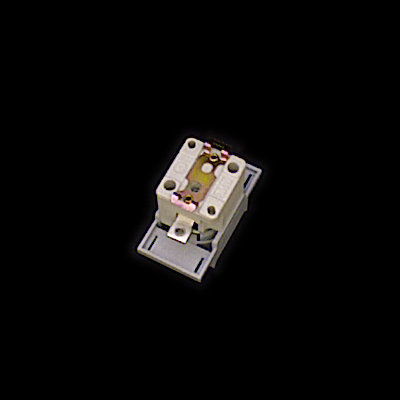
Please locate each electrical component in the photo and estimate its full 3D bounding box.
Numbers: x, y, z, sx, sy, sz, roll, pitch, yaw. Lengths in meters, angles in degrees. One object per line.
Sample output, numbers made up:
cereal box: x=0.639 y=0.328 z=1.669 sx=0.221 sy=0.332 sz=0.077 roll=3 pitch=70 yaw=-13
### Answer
electrical component: x=0.000 y=0.000 z=0.626 sx=0.042 sy=0.081 sz=0.063 roll=24 pitch=-24 yaw=12
